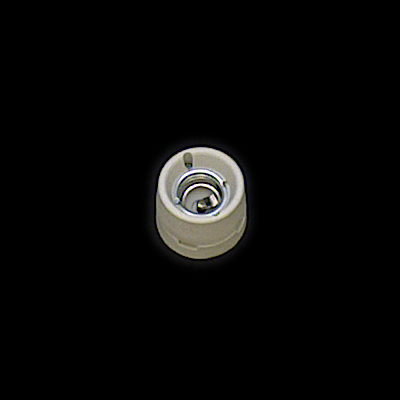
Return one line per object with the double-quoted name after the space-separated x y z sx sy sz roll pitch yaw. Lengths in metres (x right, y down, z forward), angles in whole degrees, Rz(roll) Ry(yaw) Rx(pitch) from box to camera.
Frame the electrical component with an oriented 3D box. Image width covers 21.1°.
0.000 0.000 0.632 0.055 0.056 0.047 0 -26 0 "electrical component"
